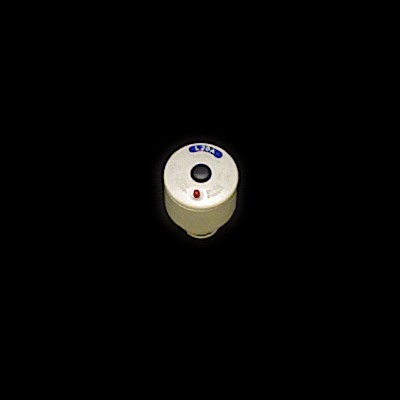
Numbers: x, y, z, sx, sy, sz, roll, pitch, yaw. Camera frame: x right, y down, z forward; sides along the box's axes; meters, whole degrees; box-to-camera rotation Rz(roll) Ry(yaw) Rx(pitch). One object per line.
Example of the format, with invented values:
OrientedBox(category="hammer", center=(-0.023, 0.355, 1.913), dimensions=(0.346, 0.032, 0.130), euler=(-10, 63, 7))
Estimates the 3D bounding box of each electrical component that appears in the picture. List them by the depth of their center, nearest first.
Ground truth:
OrientedBox(category="electrical component", center=(0.000, 0.000, 0.617), dimensions=(0.040, 0.040, 0.078), euler=(0, -27, 0))
